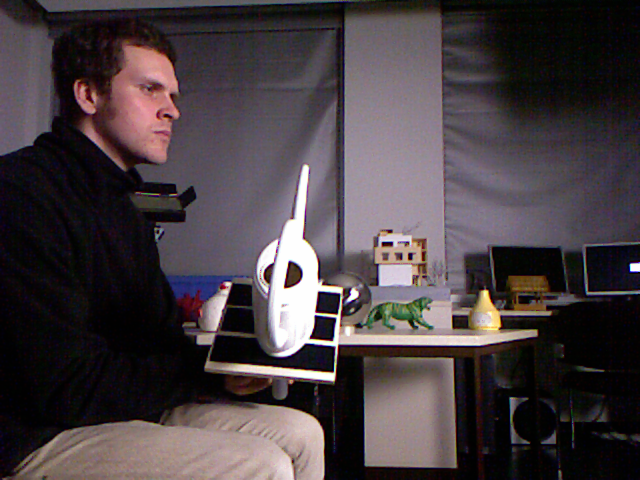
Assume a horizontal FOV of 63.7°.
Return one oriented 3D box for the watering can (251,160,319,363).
[{"bbox_3d":[-0.048,0.044,0.839,0.104,0.219,0.357,8,44,4],"label":"watering can"}]
